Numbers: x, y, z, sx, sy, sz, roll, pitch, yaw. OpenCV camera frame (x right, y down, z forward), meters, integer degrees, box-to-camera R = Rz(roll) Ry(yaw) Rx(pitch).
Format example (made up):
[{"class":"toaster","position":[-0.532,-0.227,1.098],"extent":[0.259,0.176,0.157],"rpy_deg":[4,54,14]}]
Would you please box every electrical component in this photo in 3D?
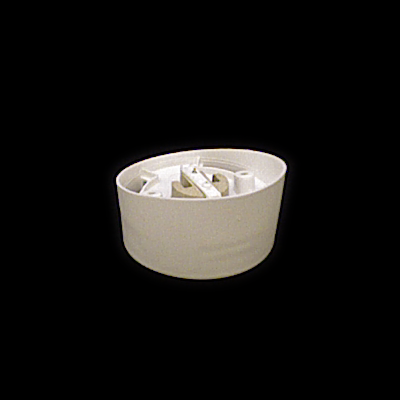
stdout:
[{"class":"electrical component","position":[0.000,0.000,0.632],"extent":[0.099,0.065,0.097],"rpy_deg":[1,32,-1]}]
